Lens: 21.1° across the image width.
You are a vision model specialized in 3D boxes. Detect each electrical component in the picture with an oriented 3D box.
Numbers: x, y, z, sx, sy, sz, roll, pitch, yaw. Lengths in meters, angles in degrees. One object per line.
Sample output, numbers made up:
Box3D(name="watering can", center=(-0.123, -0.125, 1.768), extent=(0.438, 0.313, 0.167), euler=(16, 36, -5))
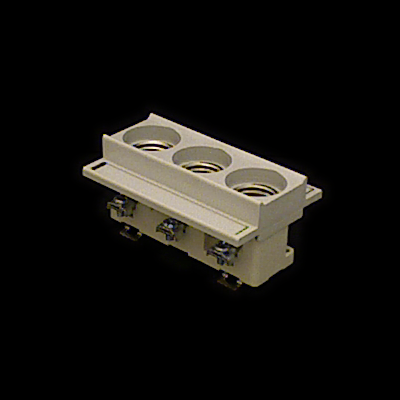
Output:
Box3D(name="electrical component", center=(0.000, 0.000, 0.648), extent=(0.120, 0.064, 0.078), euler=(25, 38, 34))
